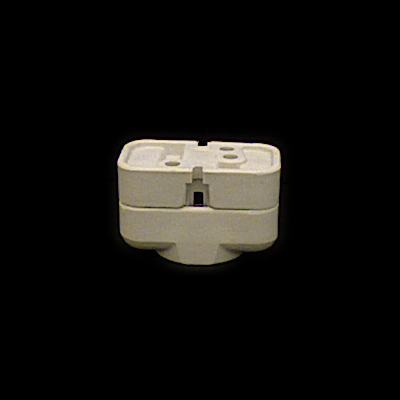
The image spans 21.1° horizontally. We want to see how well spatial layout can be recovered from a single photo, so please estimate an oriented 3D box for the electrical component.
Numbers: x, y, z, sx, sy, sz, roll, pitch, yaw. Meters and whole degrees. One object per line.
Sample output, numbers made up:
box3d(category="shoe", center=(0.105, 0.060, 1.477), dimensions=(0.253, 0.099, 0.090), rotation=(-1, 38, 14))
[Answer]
box3d(category="electrical component", center=(0.000, 0.000, 0.648), dimensions=(0.095, 0.060, 0.053), rotation=(1, 22, 2))
